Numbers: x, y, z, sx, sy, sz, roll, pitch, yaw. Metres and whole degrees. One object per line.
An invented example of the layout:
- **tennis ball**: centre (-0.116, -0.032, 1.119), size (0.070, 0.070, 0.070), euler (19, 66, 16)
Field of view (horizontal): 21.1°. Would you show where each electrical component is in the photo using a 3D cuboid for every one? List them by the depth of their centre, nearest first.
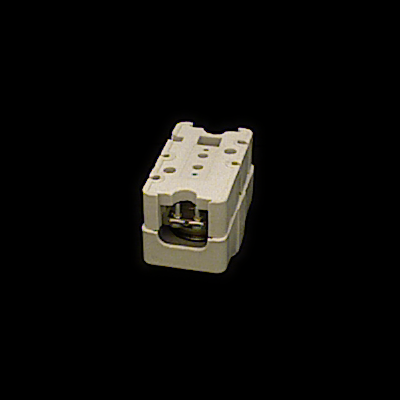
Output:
- **electrical component**: centre (0.000, 0.000, 0.642), size (0.050, 0.056, 0.089), euler (7, 32, 10)
